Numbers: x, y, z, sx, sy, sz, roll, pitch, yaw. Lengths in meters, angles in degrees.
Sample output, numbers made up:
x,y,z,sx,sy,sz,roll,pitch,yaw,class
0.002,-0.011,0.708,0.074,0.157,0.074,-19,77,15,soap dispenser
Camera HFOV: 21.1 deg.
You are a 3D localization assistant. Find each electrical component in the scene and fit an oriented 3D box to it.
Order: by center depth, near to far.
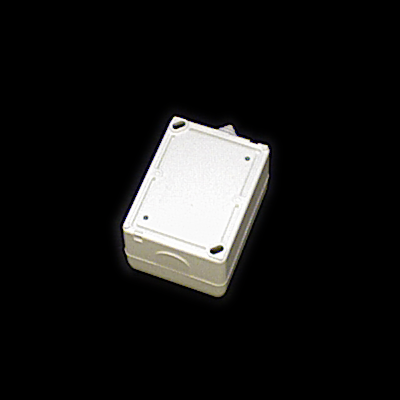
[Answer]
x,y,z,sx,sy,sz,roll,pitch,yaw,class
0.001,0.000,0.630,0.061,0.096,0.061,18,-26,10,electrical component
